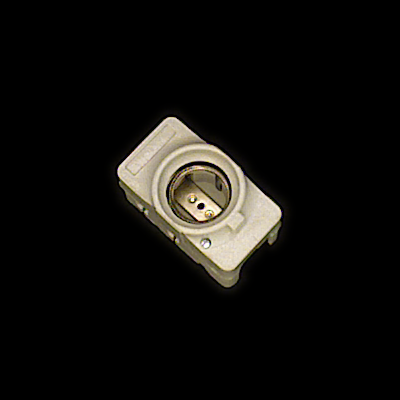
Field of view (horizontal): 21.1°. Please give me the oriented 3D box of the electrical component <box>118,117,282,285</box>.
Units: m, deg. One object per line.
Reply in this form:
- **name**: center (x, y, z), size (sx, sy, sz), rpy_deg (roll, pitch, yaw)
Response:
- **electrical component**: center (0.000, 0.000, 0.636), size (0.089, 0.050, 0.055), rpy_deg (41, -12, 11)
